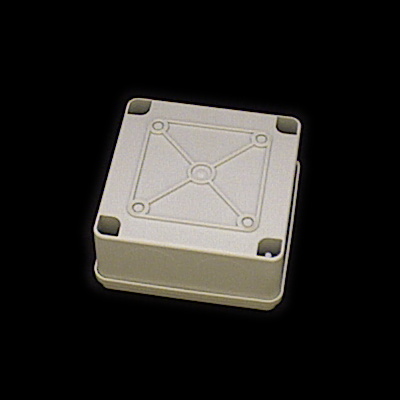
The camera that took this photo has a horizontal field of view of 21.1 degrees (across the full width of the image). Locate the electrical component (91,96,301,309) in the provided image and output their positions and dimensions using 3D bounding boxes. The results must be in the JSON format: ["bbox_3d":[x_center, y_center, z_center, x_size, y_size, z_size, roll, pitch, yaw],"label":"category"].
[{"bbox_3d":[0.000,0.000,0.628,0.109,0.108,0.056,8,-36,5],"label":"electrical component"}]
